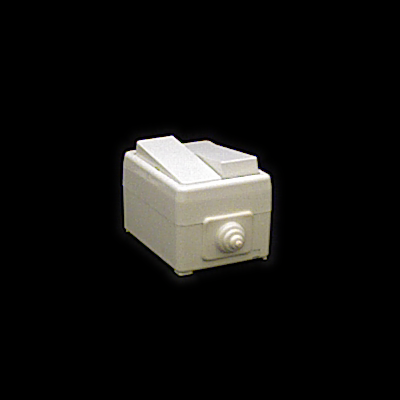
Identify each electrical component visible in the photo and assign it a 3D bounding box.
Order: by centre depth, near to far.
[{"bbox_3d":[0.000,0.000,0.637,0.061,0.061,0.095,-10,23,-26],"label":"electrical component"}]
